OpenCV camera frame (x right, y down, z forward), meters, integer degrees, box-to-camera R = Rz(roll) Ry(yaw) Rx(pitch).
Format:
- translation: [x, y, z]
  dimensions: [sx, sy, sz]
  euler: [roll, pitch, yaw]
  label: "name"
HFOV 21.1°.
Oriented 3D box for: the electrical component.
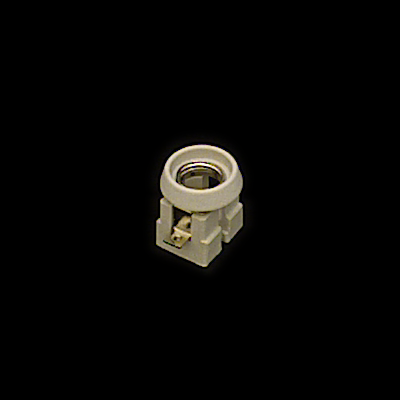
- translation: [0.000, 0.000, 0.639]
  dimensions: [0.048, 0.056, 0.066]
  euler: [21, 46, 23]
  label: "electrical component"
